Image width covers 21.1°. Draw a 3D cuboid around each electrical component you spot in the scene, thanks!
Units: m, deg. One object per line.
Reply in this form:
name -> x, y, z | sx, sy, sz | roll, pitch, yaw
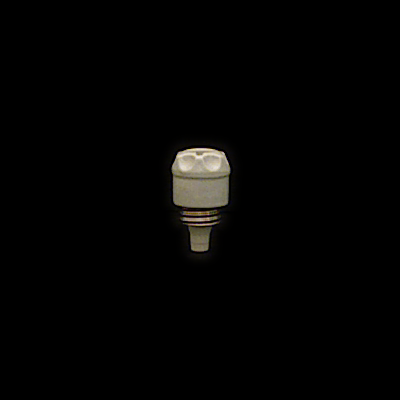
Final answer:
electrical component -> 0.000, 0.000, 0.649 | 0.035, 0.062, 0.035 | 1, 12, 0
